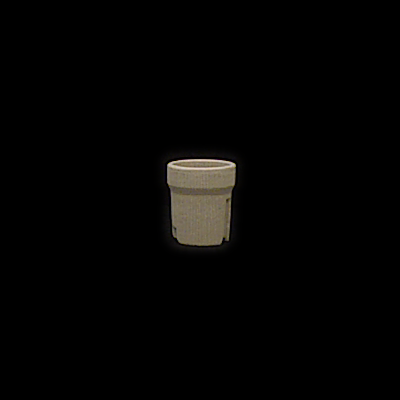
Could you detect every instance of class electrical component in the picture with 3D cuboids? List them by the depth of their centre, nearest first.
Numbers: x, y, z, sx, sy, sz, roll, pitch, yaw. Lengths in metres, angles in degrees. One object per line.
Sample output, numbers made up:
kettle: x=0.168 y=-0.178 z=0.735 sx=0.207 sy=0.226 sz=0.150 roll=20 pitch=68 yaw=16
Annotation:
electrical component: x=0.000 y=0.000 z=0.645 sx=0.040 sy=0.046 sz=0.040 roll=1 pitch=11 yaw=0
